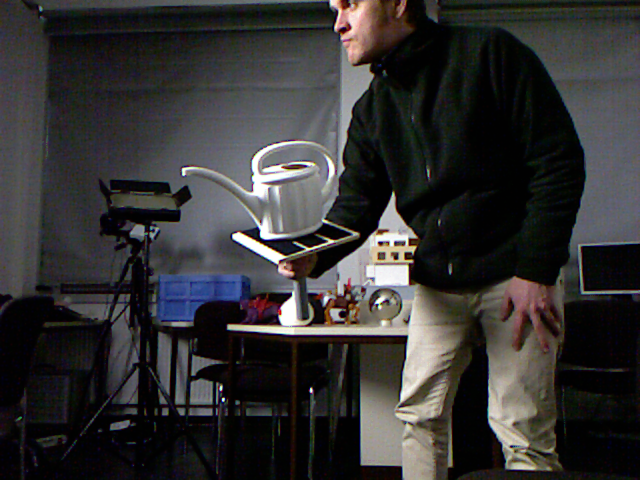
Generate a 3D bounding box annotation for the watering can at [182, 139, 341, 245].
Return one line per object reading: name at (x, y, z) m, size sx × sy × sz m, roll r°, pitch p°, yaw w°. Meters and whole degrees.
watering can at (-0.105, -0.091, 1.075) m, size 0.350 × 0.220 × 0.105 m, roll -15°, pitch 25°, yaw -26°
